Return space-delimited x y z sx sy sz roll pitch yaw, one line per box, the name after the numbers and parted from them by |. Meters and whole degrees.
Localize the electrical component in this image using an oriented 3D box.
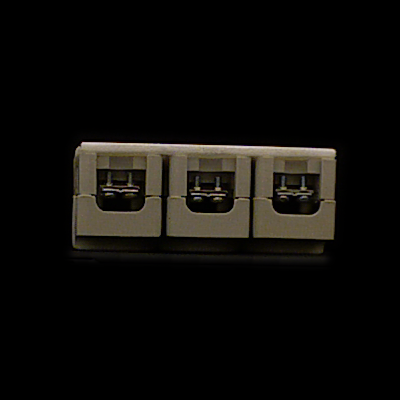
0.000 0.000 0.659 0.150 0.062 0.089 2 0 -8 | electrical component
